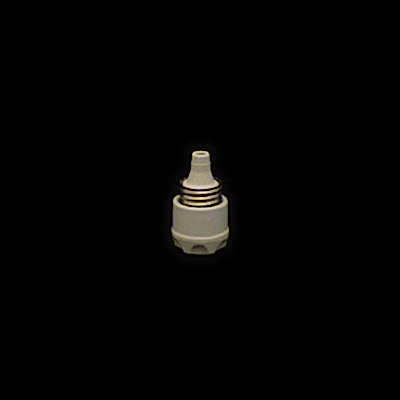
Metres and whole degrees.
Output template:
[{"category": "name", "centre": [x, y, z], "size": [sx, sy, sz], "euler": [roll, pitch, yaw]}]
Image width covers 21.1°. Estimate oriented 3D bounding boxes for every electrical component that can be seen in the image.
[{"category": "electrical component", "centre": [0.000, 0.000, 0.650], "size": [0.035, 0.062, 0.035], "euler": [1, 20, 0]}]
